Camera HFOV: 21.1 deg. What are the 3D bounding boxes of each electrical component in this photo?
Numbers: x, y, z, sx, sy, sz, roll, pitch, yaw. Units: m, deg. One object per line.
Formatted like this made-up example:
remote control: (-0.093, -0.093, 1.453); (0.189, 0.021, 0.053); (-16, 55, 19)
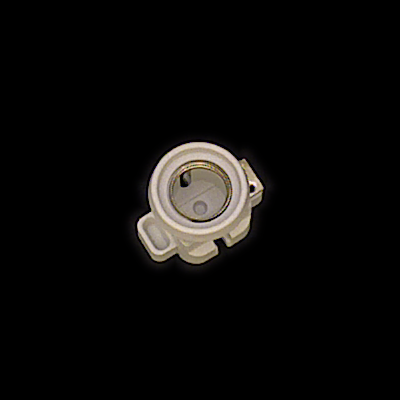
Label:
electrical component: (0.000, 0.000, 0.629); (0.079, 0.058, 0.056); (-31, -14, -9)
